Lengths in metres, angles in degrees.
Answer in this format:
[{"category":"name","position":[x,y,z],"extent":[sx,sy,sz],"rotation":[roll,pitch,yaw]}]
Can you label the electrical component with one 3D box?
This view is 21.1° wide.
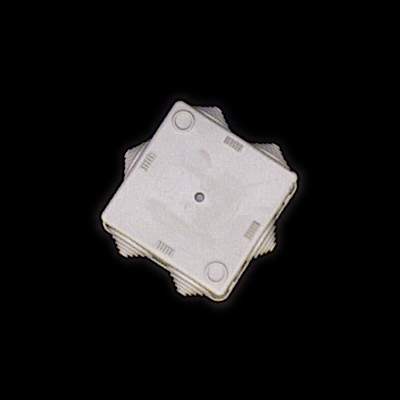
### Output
[{"category":"electrical component","position":[0.000,0.000,0.632],"extent":[0.100,0.100,0.048],"rotation":[33,-5,3]}]
